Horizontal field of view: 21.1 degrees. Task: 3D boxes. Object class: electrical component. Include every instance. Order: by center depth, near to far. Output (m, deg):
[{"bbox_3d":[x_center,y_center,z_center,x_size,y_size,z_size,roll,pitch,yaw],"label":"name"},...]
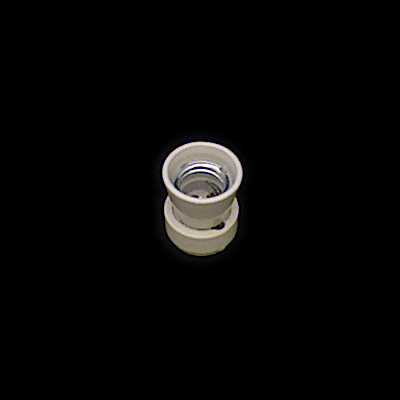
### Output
[{"bbox_3d":[0.000,0.000,0.631,0.045,0.044,0.055,0,-38,-1],"label":"electrical component"}]
